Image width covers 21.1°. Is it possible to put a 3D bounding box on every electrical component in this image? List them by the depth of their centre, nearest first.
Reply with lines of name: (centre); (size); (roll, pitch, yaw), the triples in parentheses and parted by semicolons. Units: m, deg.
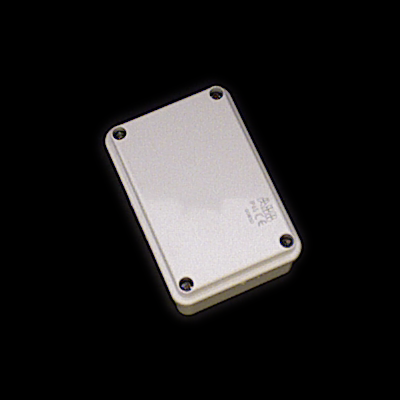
electrical component: (0.000, 0.000, 0.627); (0.078, 0.113, 0.057); (-23, -16, -7)
